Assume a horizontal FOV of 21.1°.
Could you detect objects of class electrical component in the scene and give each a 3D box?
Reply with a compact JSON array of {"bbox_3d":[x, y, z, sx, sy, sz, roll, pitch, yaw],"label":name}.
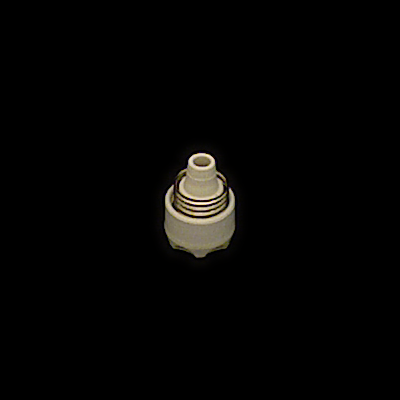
[{"bbox_3d":[0.000,0.000,0.638,0.043,0.062,0.043,1,42,-1],"label":"electrical component"}]
